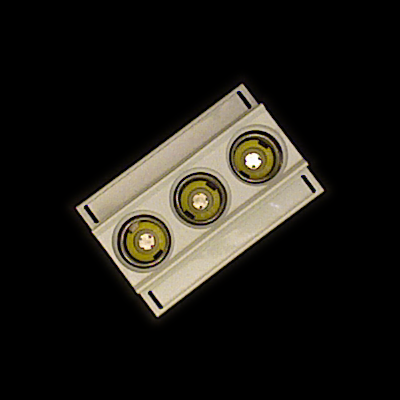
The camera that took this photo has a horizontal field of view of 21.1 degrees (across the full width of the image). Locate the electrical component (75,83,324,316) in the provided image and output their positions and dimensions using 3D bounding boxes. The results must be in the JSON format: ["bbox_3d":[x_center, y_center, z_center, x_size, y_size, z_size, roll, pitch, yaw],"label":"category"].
[{"bbox_3d":[0.000,0.000,0.637,0.121,0.079,0.063,-37,-3,-3],"label":"electrical component"}]
